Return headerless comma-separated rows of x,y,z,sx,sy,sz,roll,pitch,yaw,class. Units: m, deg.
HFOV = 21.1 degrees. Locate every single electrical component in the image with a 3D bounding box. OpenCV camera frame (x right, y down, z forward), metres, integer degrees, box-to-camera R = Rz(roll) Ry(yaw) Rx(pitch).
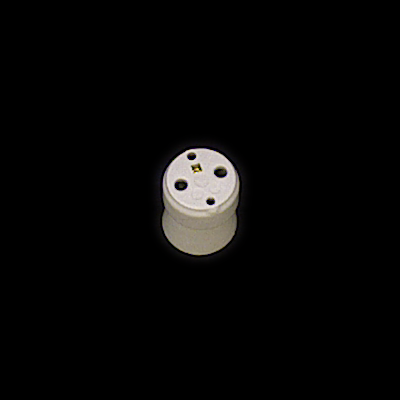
0.000,0.000,0.629,0.045,0.045,0.055,0,-27,-1,electrical component
